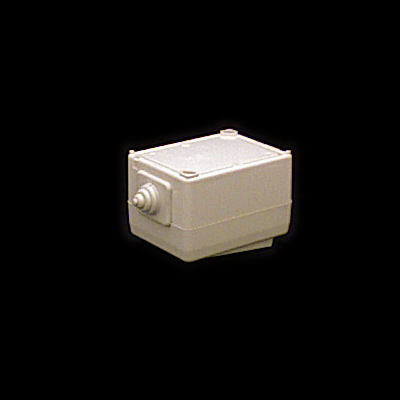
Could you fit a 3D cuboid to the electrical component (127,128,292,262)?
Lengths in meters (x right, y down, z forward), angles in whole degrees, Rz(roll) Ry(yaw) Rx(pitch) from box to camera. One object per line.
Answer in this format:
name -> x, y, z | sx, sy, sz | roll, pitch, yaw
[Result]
electrical component -> 0.000, 0.000, 0.640 | 0.096, 0.061, 0.061 | -15, 26, -35
